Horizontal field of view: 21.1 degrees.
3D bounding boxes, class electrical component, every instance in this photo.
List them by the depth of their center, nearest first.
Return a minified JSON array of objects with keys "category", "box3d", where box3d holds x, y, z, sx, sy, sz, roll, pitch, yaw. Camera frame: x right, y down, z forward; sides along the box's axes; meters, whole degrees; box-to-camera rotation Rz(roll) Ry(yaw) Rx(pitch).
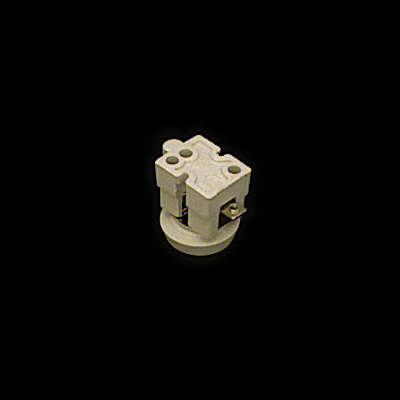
[{"category":"electrical component","box3d":[0.000,0.000,0.640,0.065,0.056,0.049,35,51,30]}]
